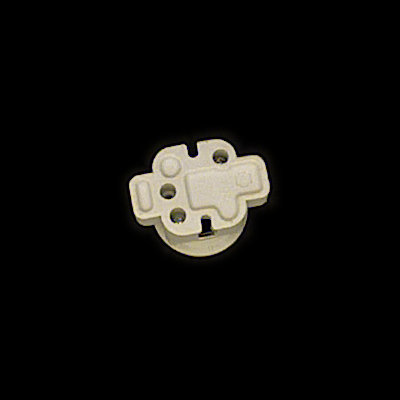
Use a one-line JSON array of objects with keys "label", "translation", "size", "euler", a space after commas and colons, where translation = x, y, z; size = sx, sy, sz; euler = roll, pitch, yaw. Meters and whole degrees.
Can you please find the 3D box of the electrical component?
[{"label": "electrical component", "translation": [0.000, 0.000, 0.636], "size": [0.079, 0.058, 0.056], "euler": [-11, -17, -5]}]
